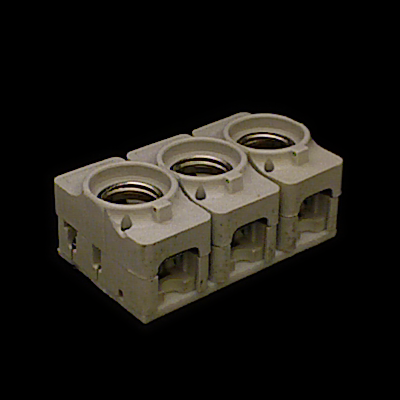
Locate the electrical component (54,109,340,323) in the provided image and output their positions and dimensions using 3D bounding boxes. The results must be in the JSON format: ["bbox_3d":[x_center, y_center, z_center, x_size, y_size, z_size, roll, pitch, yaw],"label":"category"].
[{"bbox_3d":[0.000,0.000,0.640,0.149,0.063,0.088,-23,39,-33],"label":"electrical component"}]
